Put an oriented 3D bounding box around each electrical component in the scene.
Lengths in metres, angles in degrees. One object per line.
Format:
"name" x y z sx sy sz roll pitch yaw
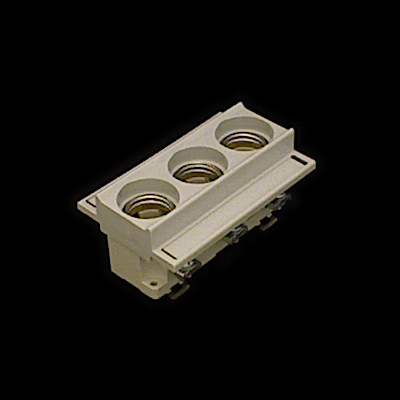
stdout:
"electrical component" 0.000 0.000 0.642 0.078 0.064 0.121 32 51 32
